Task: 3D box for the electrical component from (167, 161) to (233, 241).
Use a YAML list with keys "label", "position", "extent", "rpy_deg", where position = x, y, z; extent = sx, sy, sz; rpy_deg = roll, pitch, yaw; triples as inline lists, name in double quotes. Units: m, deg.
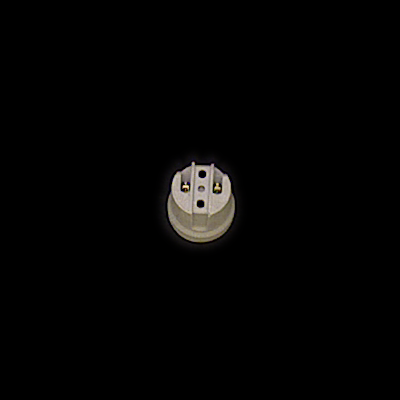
- label: "electrical component"
  position: [0.000, 0.000, 0.634]
  extent: [0.040, 0.040, 0.046]
  rpy_deg: [0, -16, 0]
